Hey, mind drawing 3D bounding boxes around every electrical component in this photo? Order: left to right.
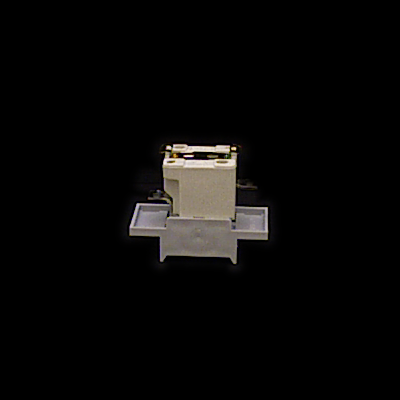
[{"bbox_3d":[0.000,0.000,0.638,0.081,0.064,0.041,2,21,1],"label":"electrical component"}]
